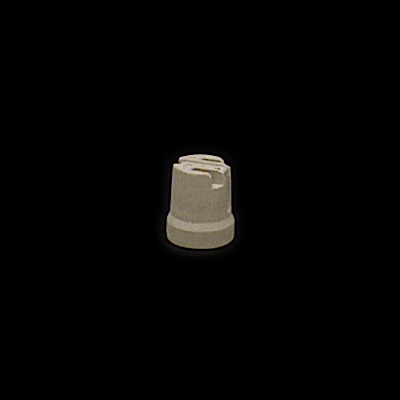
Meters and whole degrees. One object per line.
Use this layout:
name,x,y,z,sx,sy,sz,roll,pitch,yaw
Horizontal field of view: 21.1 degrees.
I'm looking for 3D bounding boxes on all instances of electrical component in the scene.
electrical component,0.000,0.000,0.640,0.040,0.046,0.040,0,22,0
